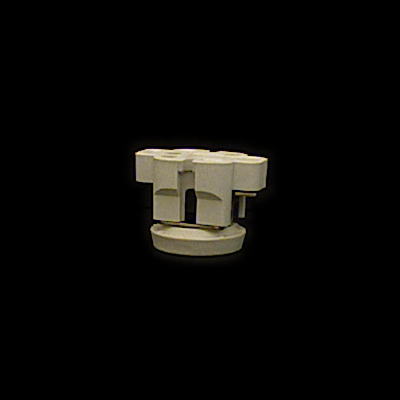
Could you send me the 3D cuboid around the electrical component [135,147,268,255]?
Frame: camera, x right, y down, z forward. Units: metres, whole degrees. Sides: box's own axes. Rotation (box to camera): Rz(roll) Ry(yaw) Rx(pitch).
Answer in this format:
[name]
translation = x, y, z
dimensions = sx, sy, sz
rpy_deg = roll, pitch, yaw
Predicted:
[electrical component]
translation = 0.000, 0.000, 0.652
dimensions = 0.078, 0.057, 0.057
rpy_deg = 6, 12, 16
